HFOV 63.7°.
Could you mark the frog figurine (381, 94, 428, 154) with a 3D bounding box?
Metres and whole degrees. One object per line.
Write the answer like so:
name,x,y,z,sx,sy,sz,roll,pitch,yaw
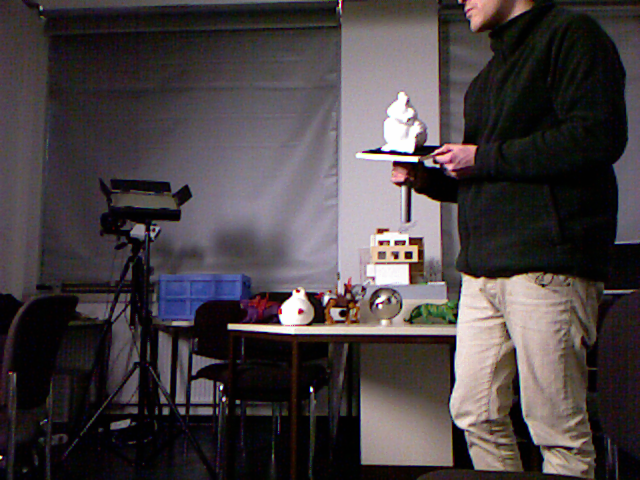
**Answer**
frog figurine,0.233,-0.322,1.420,0.124,0.158,0.139,-12,20,-29
